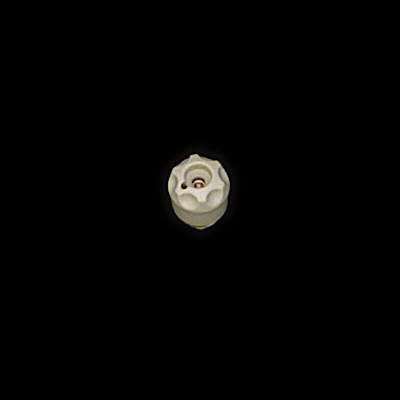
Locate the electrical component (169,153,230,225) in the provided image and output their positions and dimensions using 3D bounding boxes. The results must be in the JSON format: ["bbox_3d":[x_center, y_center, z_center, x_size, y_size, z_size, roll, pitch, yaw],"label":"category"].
[{"bbox_3d":[0.000,0.000,0.633,0.035,0.035,0.061,0,-27,1],"label":"electrical component"}]
